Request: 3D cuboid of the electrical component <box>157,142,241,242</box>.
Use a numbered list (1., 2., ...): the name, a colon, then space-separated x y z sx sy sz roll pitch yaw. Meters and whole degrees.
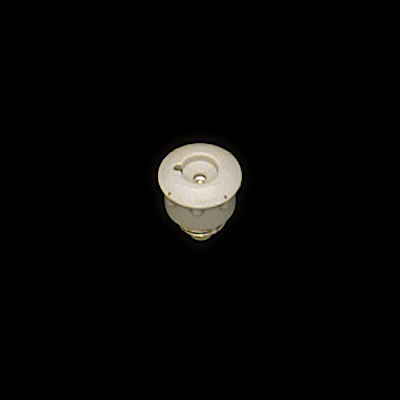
1. electrical component: 0.000 0.000 0.633 0.048 0.048 0.062 0 -37 0
